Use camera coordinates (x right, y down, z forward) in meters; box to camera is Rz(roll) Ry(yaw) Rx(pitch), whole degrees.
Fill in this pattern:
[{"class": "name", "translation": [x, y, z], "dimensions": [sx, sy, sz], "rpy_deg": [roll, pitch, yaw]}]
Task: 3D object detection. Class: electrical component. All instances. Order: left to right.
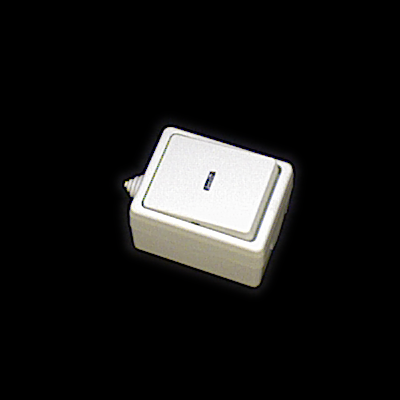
[{"class": "electrical component", "translation": [0.000, 0.000, 0.627], "dimensions": [0.096, 0.062, 0.061], "rpy_deg": [18, -26, 9]}]
